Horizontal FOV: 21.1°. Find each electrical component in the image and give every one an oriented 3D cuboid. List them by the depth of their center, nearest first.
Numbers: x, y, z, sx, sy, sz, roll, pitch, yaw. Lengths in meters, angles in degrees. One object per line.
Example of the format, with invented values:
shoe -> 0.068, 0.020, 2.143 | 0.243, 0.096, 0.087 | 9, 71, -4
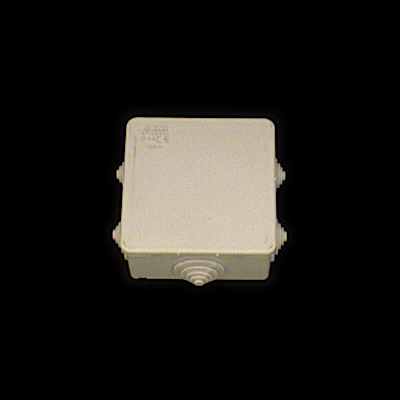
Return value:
electrical component -> 0.000, 0.000, 0.639 | 0.100, 0.100, 0.048 | 1, -26, 0
